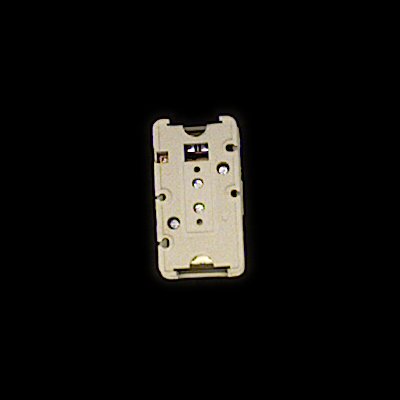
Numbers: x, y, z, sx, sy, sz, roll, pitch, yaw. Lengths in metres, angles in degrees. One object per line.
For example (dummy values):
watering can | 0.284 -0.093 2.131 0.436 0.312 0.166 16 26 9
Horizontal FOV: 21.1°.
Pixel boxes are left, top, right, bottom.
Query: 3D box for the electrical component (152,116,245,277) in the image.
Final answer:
electrical component | 0.000 0.000 0.637 0.050 0.090 0.055 -3 -7 1
